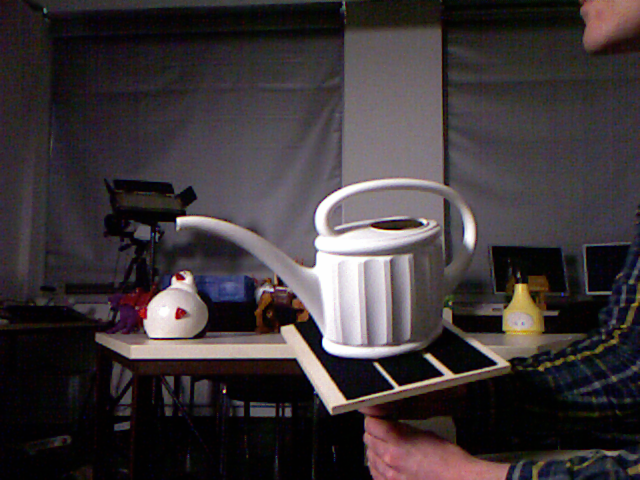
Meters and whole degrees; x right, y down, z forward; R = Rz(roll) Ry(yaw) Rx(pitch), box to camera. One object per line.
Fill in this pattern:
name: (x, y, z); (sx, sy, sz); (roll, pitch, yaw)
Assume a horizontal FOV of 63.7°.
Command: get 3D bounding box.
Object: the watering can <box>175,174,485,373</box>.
watering can: (0.028, 0.041, 0.577); (0.351, 0.223, 0.106); (-7, 18, -16)
